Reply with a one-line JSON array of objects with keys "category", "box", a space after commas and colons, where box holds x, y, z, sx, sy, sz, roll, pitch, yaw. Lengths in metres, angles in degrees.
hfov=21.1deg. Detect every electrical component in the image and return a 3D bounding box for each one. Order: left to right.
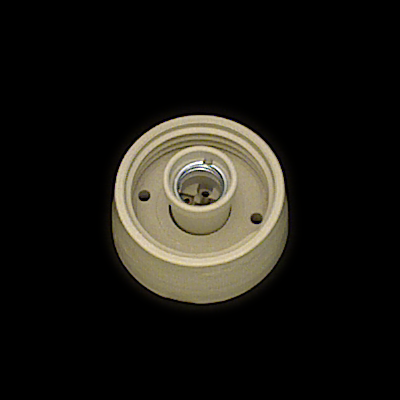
[{"category": "electrical component", "box": [0.000, 0.000, 0.633, 0.108, 0.108, 0.060, 0, -27, -1]}]
